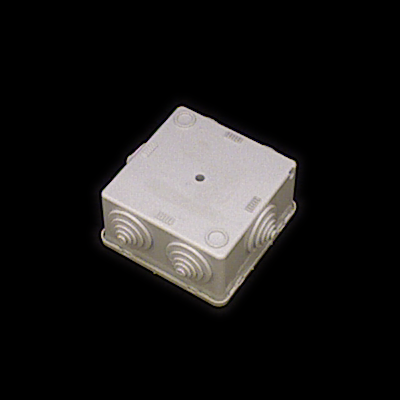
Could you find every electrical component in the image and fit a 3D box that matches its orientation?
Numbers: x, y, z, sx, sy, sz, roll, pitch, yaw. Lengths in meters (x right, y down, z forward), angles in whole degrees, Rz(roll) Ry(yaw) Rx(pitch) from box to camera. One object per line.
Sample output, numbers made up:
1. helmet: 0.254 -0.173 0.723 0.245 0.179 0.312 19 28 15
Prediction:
1. electrical component: 0.000 0.000 0.632 0.099 0.099 0.049 28 -33 19
